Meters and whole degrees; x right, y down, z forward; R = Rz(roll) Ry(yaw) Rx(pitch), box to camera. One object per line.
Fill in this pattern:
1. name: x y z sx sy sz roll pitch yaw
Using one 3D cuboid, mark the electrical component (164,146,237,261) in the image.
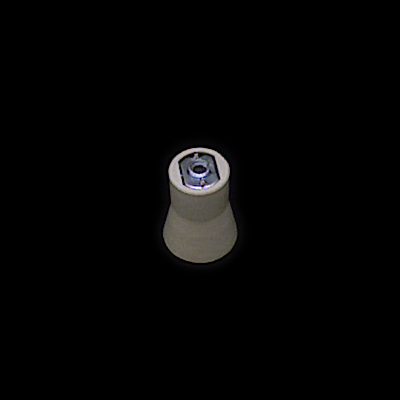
1. electrical component: 0.000 0.000 0.626 0.044 0.044 0.065 0 -37 1
